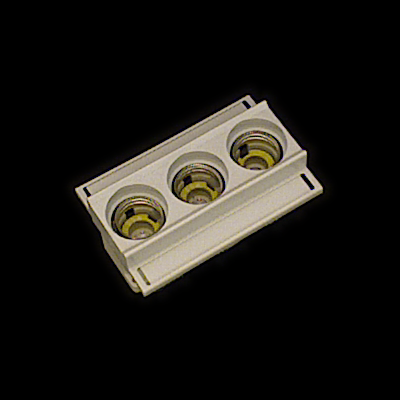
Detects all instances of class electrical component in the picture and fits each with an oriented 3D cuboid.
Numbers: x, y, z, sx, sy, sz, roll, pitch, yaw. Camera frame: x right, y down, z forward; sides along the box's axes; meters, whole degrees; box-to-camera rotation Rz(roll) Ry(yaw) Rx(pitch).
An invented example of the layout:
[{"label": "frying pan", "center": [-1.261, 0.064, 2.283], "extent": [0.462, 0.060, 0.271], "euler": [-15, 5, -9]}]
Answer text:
[{"label": "electrical component", "center": [0.000, 0.000, 0.637], "extent": [0.122, 0.078, 0.063], "euler": [-29, -25, -14]}]
